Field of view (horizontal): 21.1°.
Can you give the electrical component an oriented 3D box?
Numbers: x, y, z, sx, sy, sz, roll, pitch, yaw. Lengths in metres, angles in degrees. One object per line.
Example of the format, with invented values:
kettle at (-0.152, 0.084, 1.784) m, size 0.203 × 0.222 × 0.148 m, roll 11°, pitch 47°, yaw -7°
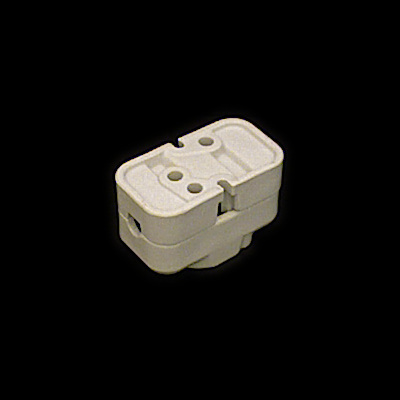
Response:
electrical component at (0.000, 0.000, 0.638) m, size 0.095 × 0.060 × 0.053 m, roll -26°, pitch 49°, yaw -27°
